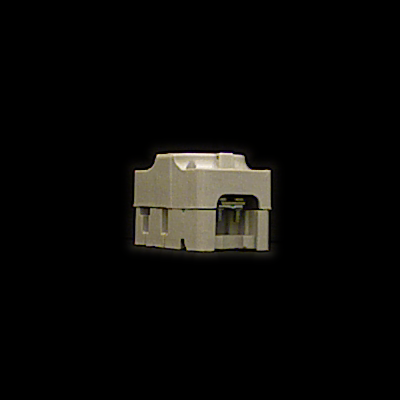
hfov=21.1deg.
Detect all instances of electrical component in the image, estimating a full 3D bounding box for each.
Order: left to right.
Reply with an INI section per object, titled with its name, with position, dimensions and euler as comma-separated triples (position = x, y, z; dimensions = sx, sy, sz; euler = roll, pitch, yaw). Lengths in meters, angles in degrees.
[electrical component]
position = 0.000, 0.000, 0.656
dimensions = 0.050, 0.056, 0.089
euler = 0, 1, -30
